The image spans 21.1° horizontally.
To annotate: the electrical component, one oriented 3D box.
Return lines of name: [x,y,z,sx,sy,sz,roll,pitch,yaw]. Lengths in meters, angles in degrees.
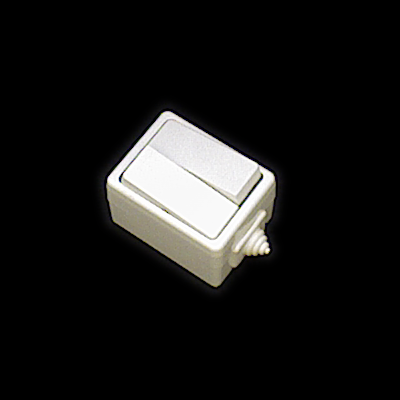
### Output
electrical component: [0.000,0.000,0.626,0.096,0.062,0.061,32,-23,16]
